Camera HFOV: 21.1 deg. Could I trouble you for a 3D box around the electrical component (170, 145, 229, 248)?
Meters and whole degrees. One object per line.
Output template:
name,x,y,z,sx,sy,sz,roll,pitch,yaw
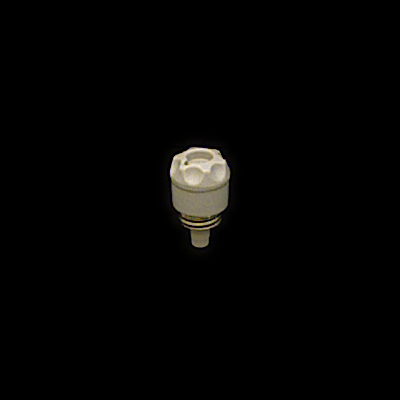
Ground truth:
electrical component,0.000,0.000,0.640,0.035,0.062,0.035,0,32,0
